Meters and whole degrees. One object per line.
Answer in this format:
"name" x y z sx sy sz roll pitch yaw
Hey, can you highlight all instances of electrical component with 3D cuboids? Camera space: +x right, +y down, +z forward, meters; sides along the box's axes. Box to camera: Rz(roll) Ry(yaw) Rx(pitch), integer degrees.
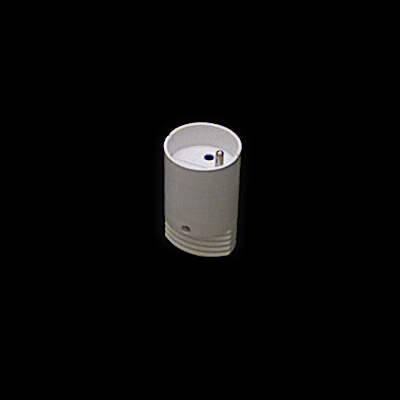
"electrical component" 0.000 0.000 0.624 0.043 0.082 0.042 1 42 -1
